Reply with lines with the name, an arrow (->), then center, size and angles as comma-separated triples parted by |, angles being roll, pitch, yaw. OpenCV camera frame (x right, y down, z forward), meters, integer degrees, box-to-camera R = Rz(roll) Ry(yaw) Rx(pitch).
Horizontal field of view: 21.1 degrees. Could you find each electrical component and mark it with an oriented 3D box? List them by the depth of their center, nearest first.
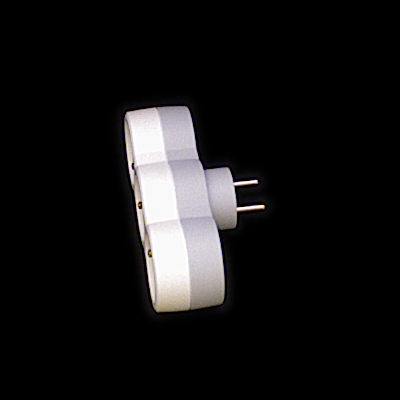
electrical component -> 0.000, 0.000, 0.633 | 0.074, 0.137, 0.052 | -7, -38, -8
